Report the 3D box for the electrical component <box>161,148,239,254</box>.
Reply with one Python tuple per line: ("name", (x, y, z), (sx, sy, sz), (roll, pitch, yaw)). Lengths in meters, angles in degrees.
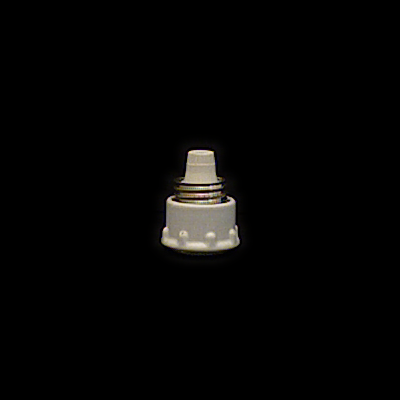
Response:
("electrical component", (0.000, 0.000, 0.651), (0.048, 0.062, 0.048), (1, 11, 0))
